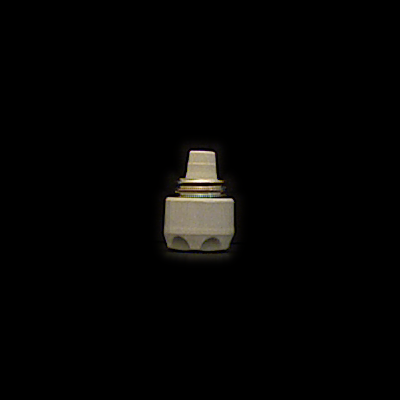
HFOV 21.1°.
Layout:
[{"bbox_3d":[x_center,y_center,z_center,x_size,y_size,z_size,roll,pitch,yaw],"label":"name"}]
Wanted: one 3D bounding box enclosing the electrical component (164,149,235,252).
[{"bbox_3d":[0.000,0.000,0.655,0.043,0.062,0.043,2,3,0],"label":"electrical component"}]
